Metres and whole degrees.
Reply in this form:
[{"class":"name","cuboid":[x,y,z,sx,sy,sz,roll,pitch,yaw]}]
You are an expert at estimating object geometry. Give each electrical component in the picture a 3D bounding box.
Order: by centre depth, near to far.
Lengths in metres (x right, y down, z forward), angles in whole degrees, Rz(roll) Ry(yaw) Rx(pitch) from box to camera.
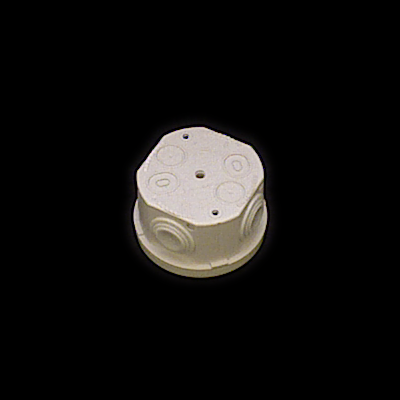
[{"class":"electrical component","cuboid":[0.000,0.000,0.633,0.080,0.080,0.051,0,-38,0]}]
